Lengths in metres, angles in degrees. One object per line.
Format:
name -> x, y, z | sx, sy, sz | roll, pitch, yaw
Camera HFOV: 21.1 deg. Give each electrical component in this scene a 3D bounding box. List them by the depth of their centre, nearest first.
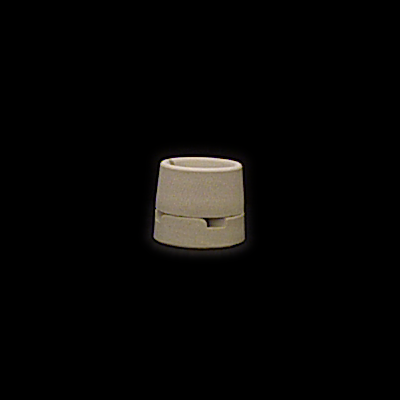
electrical component -> 0.000, 0.000, 0.645 | 0.055, 0.047, 0.055 | 2, 12, 0
